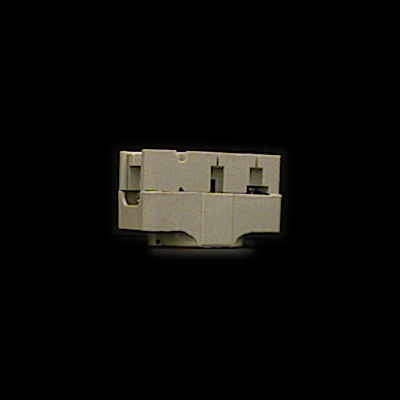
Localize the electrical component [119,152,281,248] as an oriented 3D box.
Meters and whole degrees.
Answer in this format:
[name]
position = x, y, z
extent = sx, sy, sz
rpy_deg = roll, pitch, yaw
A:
[electrical component]
position = 0.000, 0.000, 0.656
extent = 0.090, 0.056, 0.050
rpy_deg = 0, 2, -26
